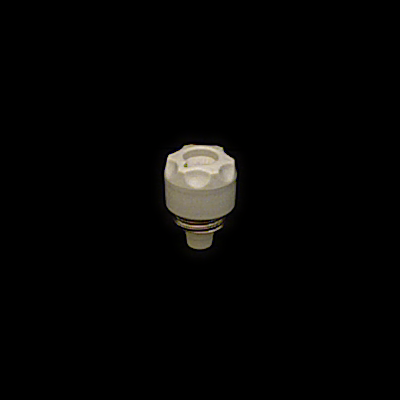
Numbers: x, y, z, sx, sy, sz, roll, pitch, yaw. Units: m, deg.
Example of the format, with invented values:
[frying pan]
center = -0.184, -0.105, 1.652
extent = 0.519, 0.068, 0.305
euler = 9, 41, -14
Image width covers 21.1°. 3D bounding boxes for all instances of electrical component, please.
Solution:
[electrical component]
center = 0.000, 0.000, 0.643
extent = 0.043, 0.063, 0.043
euler = 1, 31, 0
